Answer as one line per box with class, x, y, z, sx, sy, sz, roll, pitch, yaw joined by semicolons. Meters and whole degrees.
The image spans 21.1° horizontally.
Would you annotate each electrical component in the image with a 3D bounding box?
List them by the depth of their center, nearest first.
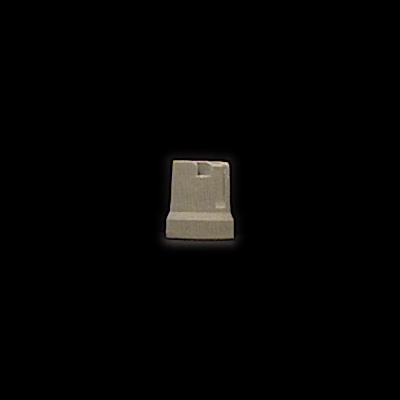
electrical component;0.000;0.000;0.648;0.040;0.046;0.040;1;1;0
